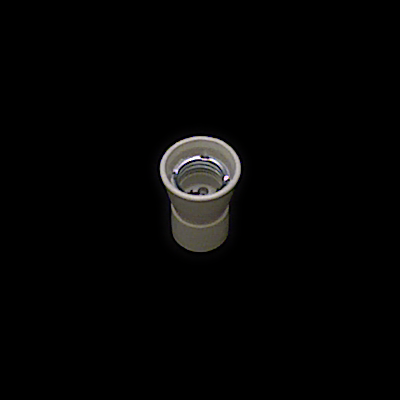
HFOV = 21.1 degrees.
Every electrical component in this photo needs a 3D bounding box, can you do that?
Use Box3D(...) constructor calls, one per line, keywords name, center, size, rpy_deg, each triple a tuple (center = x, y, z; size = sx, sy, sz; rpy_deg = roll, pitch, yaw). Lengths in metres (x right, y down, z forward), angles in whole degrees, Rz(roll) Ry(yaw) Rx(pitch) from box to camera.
Box3D(name="electrical component", center=(0.000, 0.000, 0.625), size=(0.044, 0.044, 0.065), rpy_deg=(0, -36, 0))
